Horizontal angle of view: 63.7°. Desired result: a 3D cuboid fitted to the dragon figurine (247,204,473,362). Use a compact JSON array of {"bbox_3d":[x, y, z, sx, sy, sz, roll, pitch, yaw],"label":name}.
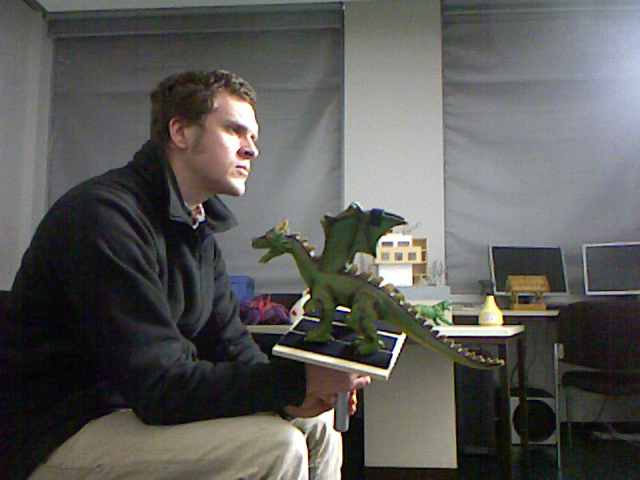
[{"bbox_3d":[0.066,0.060,0.888,0.412,0.239,0.124,9,24,19],"label":"dragon figurine"}]
